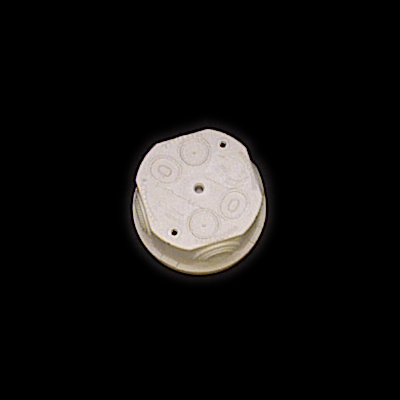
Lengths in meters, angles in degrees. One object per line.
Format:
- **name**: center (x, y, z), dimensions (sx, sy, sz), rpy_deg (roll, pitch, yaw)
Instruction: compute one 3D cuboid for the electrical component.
- **electrical component**: center (0.000, 0.000, 0.632), dimensions (0.080, 0.080, 0.050), rpy_deg (0, -18, 0)
